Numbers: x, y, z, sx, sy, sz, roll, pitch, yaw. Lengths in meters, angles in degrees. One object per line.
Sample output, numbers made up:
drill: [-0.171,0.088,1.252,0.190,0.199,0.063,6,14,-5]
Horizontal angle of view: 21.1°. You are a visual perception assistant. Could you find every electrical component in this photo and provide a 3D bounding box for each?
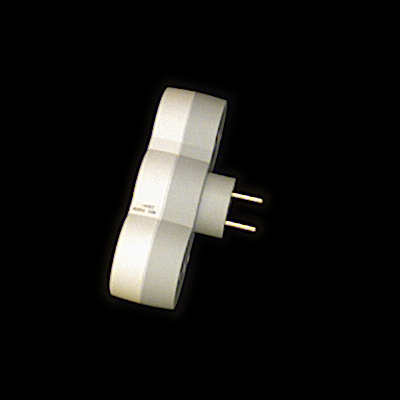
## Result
electrical component: [0.000,0.000,0.637,0.073,0.138,0.052,13,-26,4]
